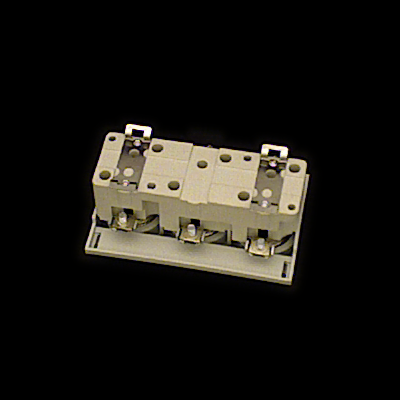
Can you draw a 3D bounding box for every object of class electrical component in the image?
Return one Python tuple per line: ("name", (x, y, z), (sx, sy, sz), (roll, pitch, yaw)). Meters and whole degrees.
("electrical component", (0.000, 0.000, 0.633), (0.121, 0.078, 0.063), (8, -36, 6))
